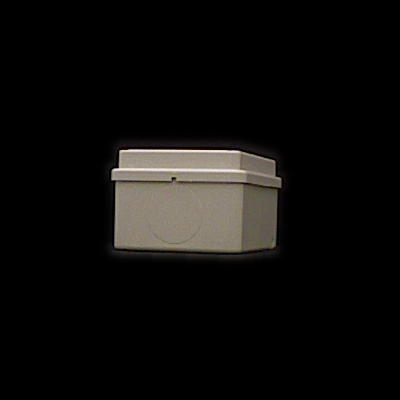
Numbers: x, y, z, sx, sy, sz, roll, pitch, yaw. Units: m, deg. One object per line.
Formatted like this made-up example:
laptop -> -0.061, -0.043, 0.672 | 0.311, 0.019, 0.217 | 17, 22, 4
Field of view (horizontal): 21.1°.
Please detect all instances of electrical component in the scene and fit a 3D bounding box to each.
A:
electrical component -> 0.000, 0.000, 0.649 | 0.078, 0.057, 0.113 | 1, 0, 15
